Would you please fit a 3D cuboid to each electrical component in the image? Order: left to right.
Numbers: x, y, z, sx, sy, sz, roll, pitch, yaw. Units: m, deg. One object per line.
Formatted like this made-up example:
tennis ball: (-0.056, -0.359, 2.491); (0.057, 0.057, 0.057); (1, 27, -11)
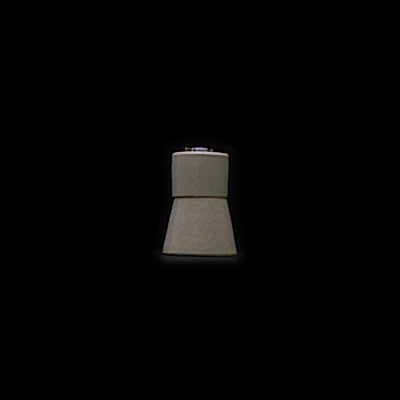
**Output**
electrical component: (0.000, 0.000, 0.652); (0.044, 0.065, 0.044); (0, 0, 0)
